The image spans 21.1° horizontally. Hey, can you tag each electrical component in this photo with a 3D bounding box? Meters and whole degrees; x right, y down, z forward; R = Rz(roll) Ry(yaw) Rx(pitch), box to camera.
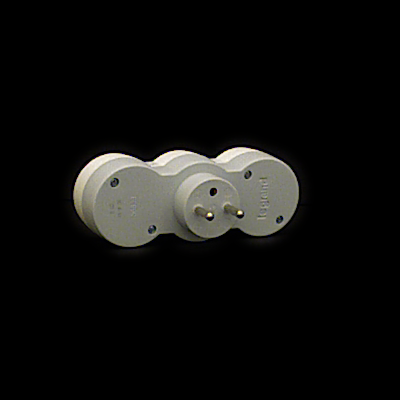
[{"bbox_3d":[0.000,0.000,0.648,0.139,0.052,0.072,-4,14,-25],"label":"electrical component"}]
